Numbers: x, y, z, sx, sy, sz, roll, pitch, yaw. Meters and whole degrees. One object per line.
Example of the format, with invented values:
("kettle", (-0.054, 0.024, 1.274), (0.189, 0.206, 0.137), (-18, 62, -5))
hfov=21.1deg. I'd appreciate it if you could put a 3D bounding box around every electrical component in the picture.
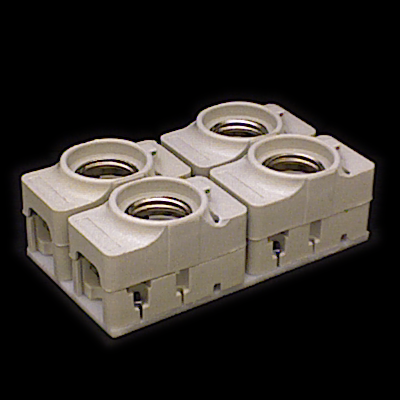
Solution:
("electrical component", (0.000, 0.000, 0.635), (0.186, 0.061, 0.104), (-18, 36, -29))
